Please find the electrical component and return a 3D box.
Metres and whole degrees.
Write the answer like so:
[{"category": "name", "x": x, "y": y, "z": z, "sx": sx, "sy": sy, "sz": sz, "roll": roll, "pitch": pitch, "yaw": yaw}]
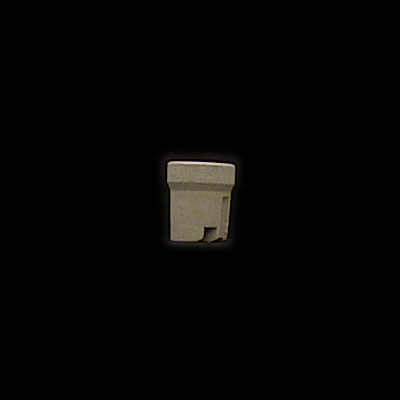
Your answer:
[{"category": "electrical component", "x": 0.000, "y": 0.000, "z": 0.648, "sx": 0.040, "sy": 0.046, "sz": 0.040, "roll": 1, "pitch": 1, "yaw": 0}]
